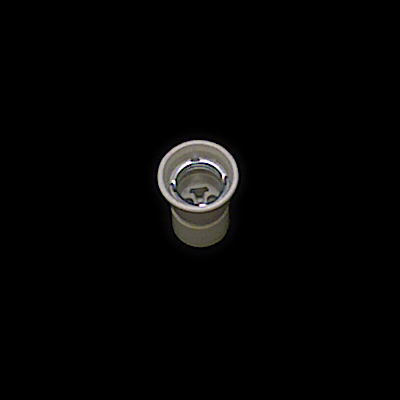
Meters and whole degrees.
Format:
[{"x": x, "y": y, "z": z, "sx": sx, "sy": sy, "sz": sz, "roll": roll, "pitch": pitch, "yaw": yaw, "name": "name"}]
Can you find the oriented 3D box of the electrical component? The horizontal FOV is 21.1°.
[{"x": 0.000, "y": 0.000, "z": 0.624, "sx": 0.044, "sy": 0.044, "sz": 0.065, "roll": 0, "pitch": -27, "yaw": 1, "name": "electrical component"}]
